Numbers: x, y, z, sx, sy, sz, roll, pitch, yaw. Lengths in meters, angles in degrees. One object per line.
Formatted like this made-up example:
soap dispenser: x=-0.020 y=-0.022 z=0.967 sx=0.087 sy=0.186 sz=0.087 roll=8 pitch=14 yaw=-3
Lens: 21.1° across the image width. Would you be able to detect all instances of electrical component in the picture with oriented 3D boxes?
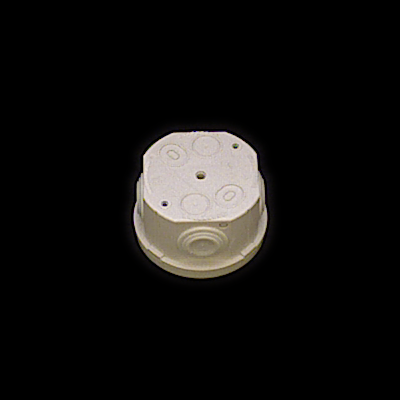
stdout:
electrical component: x=0.000 y=0.000 z=0.633 sx=0.080 sy=0.080 sz=0.051 roll=0 pitch=-38 yaw=-1
